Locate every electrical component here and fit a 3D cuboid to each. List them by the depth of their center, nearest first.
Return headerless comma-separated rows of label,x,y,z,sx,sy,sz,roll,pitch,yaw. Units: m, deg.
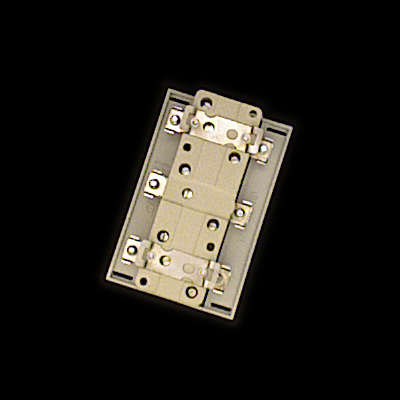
electrical component,0.000,0.000,0.634,0.079,0.122,0.063,17,-6,1
